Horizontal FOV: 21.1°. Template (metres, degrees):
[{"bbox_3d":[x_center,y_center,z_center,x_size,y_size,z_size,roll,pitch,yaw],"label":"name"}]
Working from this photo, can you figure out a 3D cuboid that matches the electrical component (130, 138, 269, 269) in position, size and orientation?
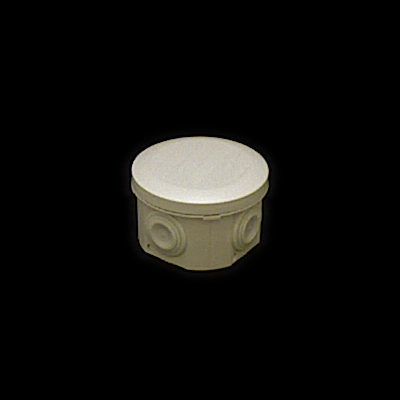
[{"bbox_3d":[0.000,0.000,0.634,0.080,0.051,0.079,1,31,0],"label":"electrical component"}]
